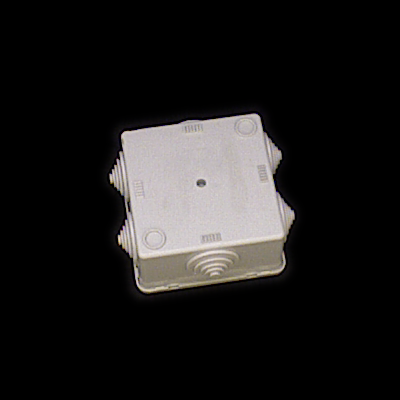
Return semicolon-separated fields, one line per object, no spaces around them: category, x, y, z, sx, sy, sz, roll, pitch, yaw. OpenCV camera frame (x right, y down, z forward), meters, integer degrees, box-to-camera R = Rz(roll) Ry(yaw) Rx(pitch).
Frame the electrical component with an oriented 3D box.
electrical component;0.000;0.000;0.632;0.100;0.099;0.048;-8;-27;-4
